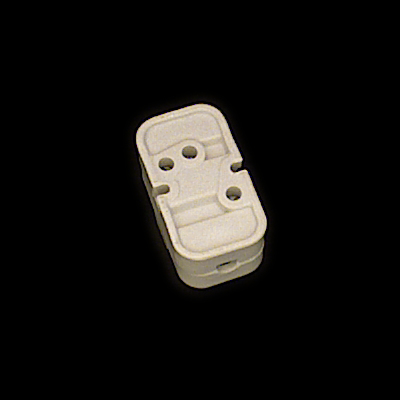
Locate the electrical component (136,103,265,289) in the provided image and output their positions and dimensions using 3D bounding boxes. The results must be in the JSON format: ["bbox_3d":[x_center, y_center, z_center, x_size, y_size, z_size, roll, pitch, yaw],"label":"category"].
[{"bbox_3d":[0.000,0.000,0.634,0.054,0.095,0.059,-17,-25,-8],"label":"electrical component"}]
